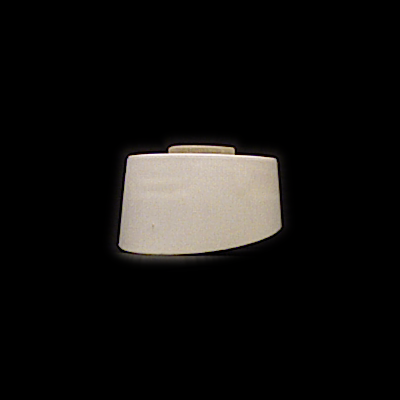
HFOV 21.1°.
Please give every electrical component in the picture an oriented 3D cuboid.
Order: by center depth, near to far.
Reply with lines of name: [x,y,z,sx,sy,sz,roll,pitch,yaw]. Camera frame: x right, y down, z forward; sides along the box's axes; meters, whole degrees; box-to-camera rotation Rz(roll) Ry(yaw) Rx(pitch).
electrical component: [0.000,0.000,0.650,0.099,0.064,0.099,1,0,0]
